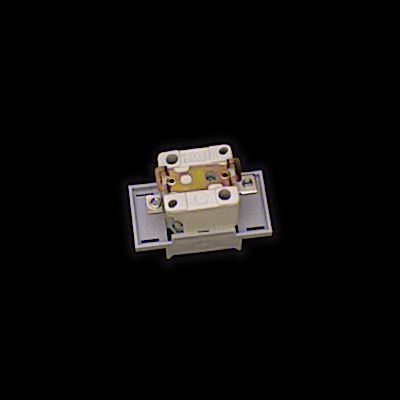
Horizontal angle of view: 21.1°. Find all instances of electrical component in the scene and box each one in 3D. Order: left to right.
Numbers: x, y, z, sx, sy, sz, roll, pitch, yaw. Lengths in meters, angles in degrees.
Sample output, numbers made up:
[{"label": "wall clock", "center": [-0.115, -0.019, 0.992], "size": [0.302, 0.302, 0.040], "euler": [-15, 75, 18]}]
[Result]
[{"label": "electrical component", "center": [0.000, 0.000, 0.625], "size": [0.081, 0.042, 0.063], "euler": [-7, -27, -4]}]
